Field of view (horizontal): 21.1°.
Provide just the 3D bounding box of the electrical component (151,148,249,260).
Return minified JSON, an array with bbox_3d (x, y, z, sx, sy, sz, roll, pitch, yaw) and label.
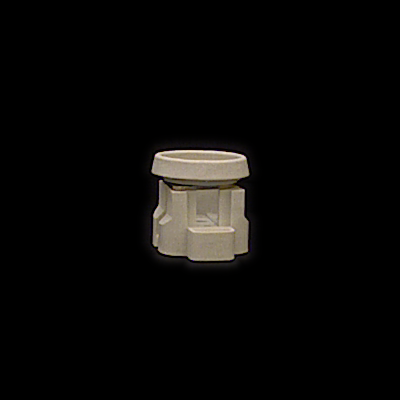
[{"bbox_3d":[0.000,0.000,0.645,0.058,0.057,0.077,-1,11,-13],"label":"electrical component"}]
